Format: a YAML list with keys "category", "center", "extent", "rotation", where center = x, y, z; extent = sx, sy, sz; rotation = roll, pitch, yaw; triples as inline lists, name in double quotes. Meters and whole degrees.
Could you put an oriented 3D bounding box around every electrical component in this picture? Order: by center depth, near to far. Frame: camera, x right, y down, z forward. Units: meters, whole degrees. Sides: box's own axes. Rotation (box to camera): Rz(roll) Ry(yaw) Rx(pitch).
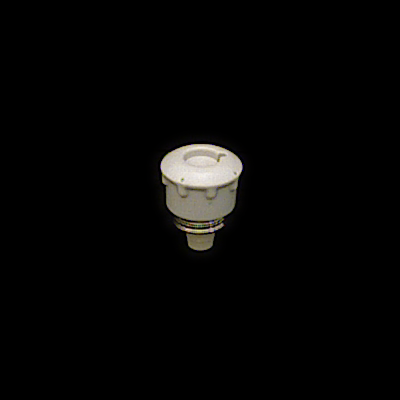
- category: "electrical component"
  center: [0.000, 0.000, 0.643]
  extent: [0.048, 0.063, 0.047]
  rotation: [1, 32, 0]
